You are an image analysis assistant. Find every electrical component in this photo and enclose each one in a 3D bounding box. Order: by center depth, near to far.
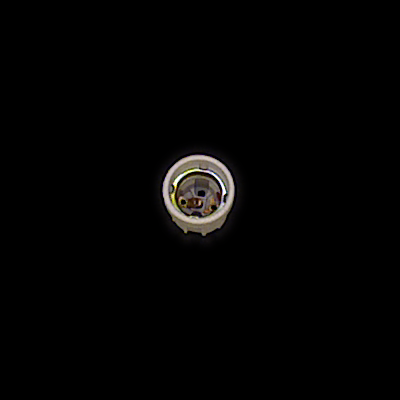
[{"bbox_3d":[0.000,0.000,0.626,0.040,0.040,0.046,0,-17,0],"label":"electrical component"}]
